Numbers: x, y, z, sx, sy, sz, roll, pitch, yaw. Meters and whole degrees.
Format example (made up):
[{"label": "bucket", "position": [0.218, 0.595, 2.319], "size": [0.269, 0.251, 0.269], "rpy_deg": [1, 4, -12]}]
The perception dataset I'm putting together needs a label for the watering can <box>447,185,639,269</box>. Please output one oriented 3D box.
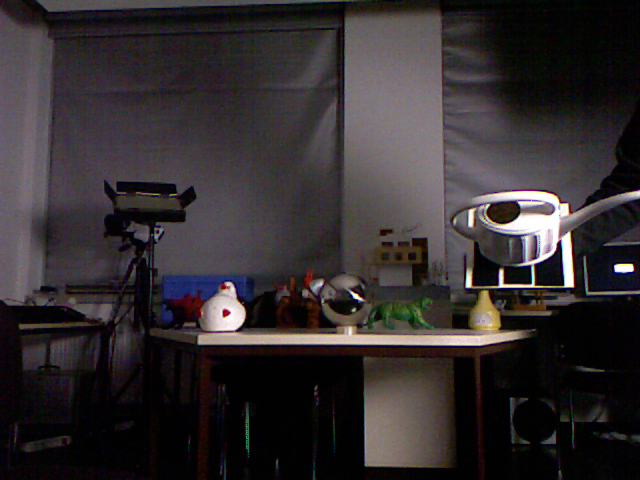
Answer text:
[{"label": "watering can", "position": [0.434, -0.030, 1.021], "size": [0.348, 0.106, 0.220], "rpy_deg": [-3, -31, 20]}]
